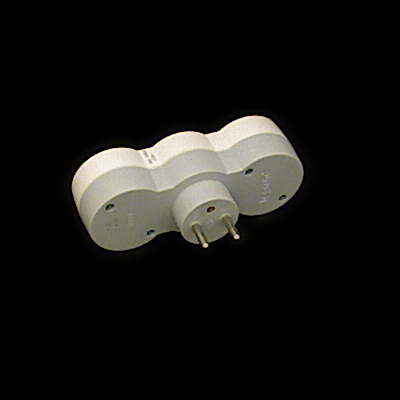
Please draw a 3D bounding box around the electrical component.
[{"bbox_3d":[0.000,0.000,0.638,0.139,0.052,0.073,-14,46,-16],"label":"electrical component"}]
